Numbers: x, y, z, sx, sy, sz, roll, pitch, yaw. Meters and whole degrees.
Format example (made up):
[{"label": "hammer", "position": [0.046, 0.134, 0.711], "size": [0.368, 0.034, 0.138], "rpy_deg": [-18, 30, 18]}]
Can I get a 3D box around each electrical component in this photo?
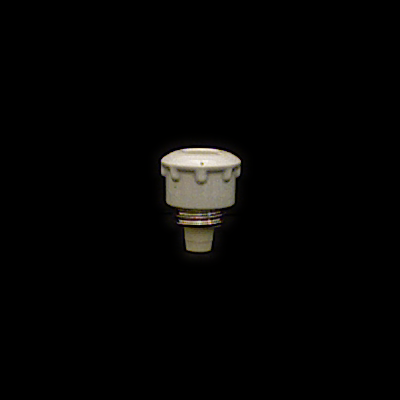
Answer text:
[{"label": "electrical component", "position": [0.000, 0.000, 0.653], "size": [0.048, 0.062, 0.048], "rpy_deg": [1, 11, 0]}]
